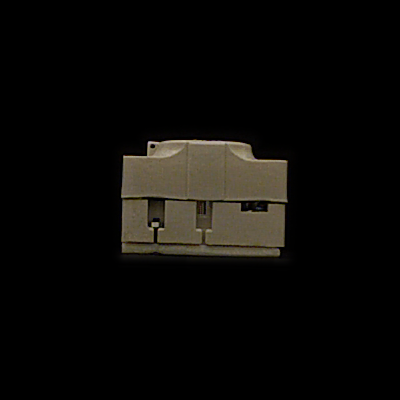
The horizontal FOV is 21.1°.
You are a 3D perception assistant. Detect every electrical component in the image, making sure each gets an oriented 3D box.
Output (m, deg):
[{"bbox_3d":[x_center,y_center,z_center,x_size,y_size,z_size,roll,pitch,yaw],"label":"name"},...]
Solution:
[{"bbox_3d":[0.000,0.000,0.655,0.090,0.062,0.150,1,-1,-3],"label":"electrical component"}]
